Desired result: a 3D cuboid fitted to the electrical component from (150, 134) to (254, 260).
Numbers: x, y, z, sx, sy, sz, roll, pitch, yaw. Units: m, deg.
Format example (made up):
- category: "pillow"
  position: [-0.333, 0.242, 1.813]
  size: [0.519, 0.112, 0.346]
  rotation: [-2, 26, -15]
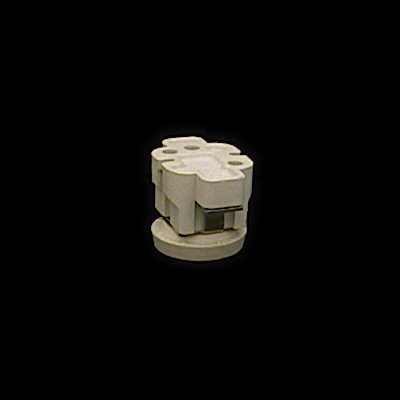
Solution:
- category: "electrical component"
  position: [0.000, 0.000, 0.645]
  size: [0.058, 0.057, 0.077]
  rotation: [-7, 25, -21]
